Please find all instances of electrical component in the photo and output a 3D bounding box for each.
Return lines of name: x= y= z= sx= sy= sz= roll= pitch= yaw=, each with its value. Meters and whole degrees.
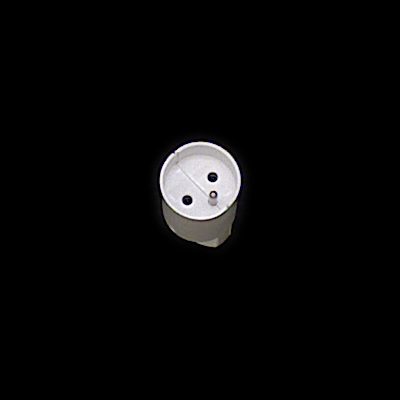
electrical component: x=0.000 y=0.000 z=0.615 sx=0.043 sy=0.043 sz=0.080 roll=0 pitch=-16 yaw=0
